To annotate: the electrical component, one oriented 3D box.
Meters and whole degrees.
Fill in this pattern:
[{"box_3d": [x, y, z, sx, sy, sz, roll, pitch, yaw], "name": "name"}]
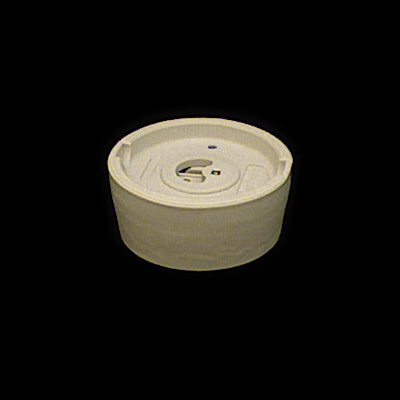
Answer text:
[{"box_3d": [0.000, 0.000, 0.643, 0.108, 0.061, 0.106, 1, 32, 0], "name": "electrical component"}]
